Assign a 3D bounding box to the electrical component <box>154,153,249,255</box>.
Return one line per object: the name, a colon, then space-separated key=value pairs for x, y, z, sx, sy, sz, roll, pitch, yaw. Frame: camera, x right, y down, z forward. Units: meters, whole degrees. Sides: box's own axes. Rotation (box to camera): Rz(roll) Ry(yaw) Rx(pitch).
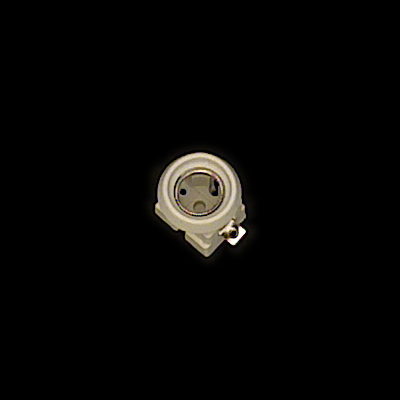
electrical component: x=0.000 y=0.000 z=0.637 sx=0.066 sy=0.048 sz=0.055 roll=39 pitch=-10 yaw=11
